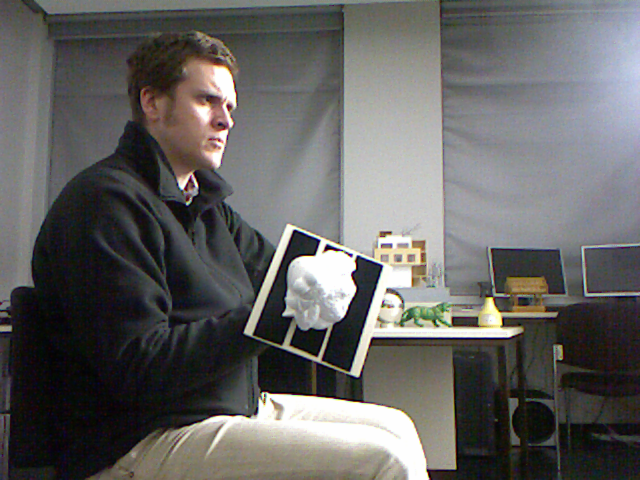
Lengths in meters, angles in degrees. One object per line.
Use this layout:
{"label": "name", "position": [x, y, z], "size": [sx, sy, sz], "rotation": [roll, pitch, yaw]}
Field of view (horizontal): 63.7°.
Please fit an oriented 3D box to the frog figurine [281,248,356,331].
{"label": "frog figurine", "position": [0.003, 0.071, 0.789], "size": [0.139, 0.123, 0.158], "rotation": [-46, -1, -17]}
